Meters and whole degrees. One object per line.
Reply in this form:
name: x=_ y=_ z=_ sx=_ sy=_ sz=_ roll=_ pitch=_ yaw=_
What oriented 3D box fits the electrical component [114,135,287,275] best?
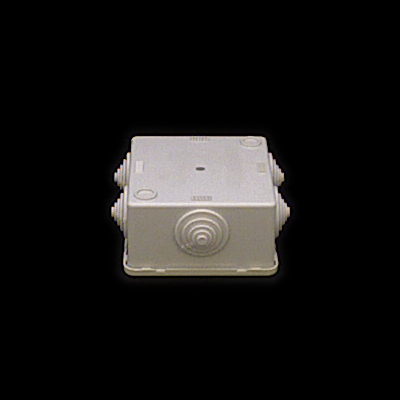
electrical component: x=0.000 y=0.000 z=0.638 sx=0.100 sy=0.049 sz=0.098 roll=0 pitch=31 yaw=-2
